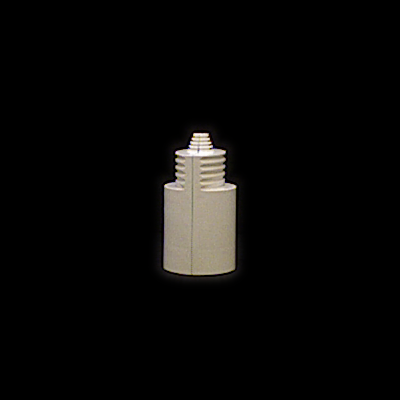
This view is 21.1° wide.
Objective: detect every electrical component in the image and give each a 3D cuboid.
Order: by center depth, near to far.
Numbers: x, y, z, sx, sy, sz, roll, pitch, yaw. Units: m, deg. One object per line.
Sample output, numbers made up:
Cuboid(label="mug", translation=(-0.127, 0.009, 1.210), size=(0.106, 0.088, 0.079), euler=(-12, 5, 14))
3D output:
Cuboid(label="electrical component", translation=(0.000, 0.000, 0.643), size=(0.043, 0.081, 0.043), euler=(1, 11, 0))
